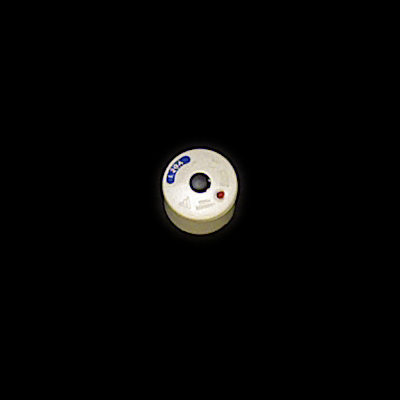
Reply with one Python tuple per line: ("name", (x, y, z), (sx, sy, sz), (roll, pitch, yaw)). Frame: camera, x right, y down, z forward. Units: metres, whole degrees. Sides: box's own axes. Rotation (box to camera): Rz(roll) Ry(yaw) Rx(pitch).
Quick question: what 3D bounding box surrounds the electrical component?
("electrical component", (0.000, 0.000, 0.616), (0.040, 0.040, 0.078), (0, -16, -1))
